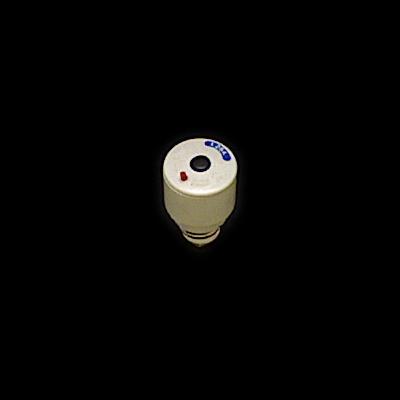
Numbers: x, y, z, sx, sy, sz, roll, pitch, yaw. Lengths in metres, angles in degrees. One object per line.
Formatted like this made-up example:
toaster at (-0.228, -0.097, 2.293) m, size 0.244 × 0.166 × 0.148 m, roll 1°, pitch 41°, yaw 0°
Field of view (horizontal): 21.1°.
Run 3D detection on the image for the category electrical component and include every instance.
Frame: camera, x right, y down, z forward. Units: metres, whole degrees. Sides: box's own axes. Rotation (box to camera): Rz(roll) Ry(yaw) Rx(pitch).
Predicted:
electrical component at (0.000, 0.000, 0.619) m, size 0.040 × 0.040 × 0.078 m, roll 0°, pitch -37°, yaw 0°
